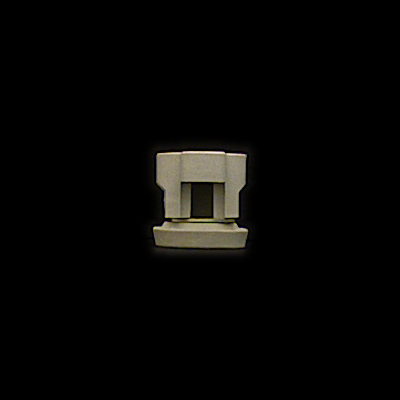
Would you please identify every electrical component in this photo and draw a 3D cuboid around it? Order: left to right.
[{"bbox_3d":[0.000,0.000,0.658,0.058,0.057,0.078,0,0,-5],"label":"electrical component"}]
